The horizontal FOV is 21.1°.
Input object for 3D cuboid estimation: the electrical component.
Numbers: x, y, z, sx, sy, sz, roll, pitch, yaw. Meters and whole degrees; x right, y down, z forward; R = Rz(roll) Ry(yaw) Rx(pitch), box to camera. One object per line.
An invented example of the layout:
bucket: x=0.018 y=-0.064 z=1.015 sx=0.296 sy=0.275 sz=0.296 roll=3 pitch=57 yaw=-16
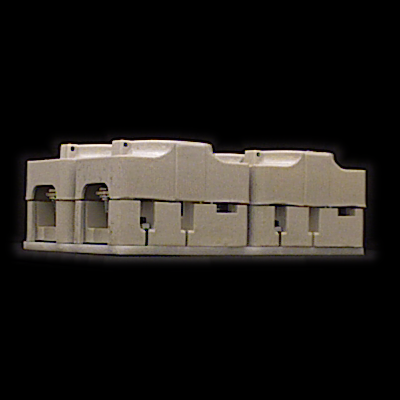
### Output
electrical component: x=0.000 y=0.000 z=0.649 sx=0.187 sy=0.060 sz=0.105 roll=1 pitch=0 yaw=-38
